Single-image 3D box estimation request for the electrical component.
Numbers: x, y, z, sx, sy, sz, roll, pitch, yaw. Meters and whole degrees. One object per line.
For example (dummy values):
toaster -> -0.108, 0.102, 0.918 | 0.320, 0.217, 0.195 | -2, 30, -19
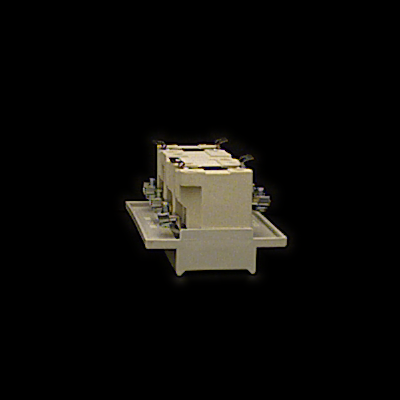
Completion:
electrical component -> 0.000, 0.000, 0.649 | 0.079, 0.063, 0.120 | -1, 11, -9
